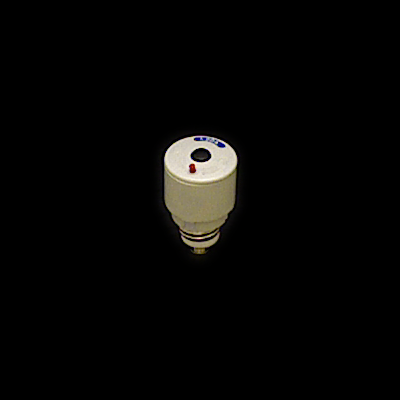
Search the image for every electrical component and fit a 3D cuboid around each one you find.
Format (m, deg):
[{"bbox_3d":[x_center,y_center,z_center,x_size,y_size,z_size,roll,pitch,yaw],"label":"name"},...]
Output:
[{"bbox_3d":[0.000,0.000,0.622,0.040,0.079,0.039,0,42,0],"label":"electrical component"}]
